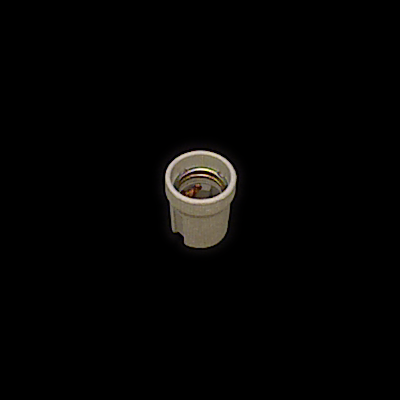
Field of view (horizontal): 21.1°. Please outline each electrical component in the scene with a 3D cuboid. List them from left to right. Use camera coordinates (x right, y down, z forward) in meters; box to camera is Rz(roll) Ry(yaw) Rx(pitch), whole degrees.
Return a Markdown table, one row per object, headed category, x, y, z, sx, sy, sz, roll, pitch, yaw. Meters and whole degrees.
| category | x | y | z | sx | sy | sz | roll | pitch | yaw |
| --- | --- | --- | --- | --- | --- | --- | --- | --- | --- |
| electrical component | 0.000 | 0.000 | 0.631 | 0.040 | 0.039 | 0.047 | 0 | -38 | -1 |
